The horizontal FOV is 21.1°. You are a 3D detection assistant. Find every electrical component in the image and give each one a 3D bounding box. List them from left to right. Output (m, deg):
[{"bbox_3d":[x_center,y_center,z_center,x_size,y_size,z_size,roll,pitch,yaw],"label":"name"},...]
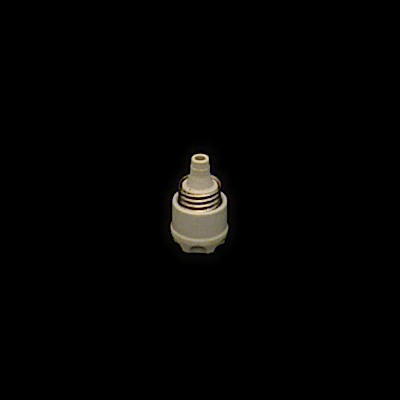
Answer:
[{"bbox_3d":[0.000,0.000,0.648,0.035,0.062,0.034,0,34,0],"label":"electrical component"}]
